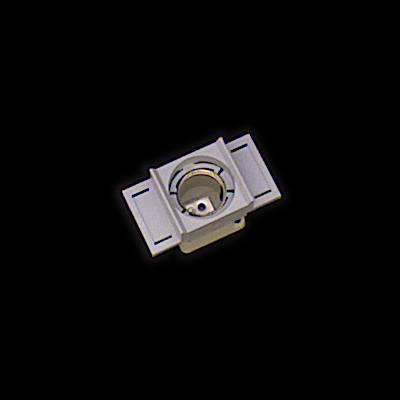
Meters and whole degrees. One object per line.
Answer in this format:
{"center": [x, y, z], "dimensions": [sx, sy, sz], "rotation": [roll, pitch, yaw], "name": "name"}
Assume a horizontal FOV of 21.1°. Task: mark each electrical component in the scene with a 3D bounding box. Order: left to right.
{"center": [0.000, 0.000, 0.623], "dimensions": [0.081, 0.042, 0.063], "rotation": [-24, -14, -7], "name": "electrical component"}
